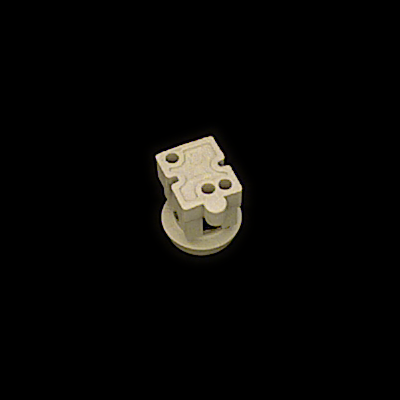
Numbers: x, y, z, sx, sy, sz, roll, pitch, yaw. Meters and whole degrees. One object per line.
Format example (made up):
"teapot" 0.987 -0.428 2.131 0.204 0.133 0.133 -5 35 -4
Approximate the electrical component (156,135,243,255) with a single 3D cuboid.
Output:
"electrical component" 0.000 0.000 0.638 0.048 0.066 0.055 -19 -35 -13
